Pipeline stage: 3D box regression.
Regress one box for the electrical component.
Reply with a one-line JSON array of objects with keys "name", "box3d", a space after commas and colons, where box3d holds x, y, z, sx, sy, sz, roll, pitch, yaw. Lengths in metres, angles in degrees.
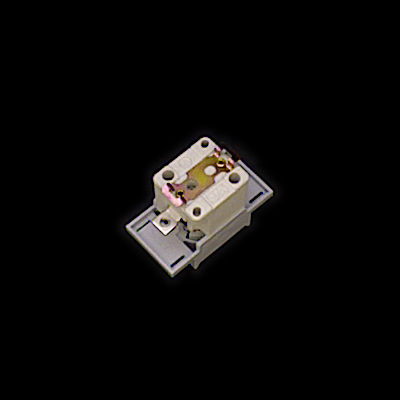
[{"name": "electrical component", "box3d": [0.000, 0.000, 0.626, 0.081, 0.042, 0.063, -39, -21, -18]}]
